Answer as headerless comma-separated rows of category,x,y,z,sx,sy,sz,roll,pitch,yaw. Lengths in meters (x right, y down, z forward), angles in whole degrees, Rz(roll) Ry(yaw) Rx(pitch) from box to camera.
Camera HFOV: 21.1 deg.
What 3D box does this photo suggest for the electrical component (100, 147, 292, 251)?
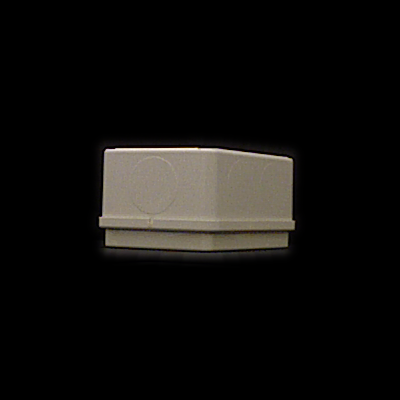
electrical component,0.000,0.000,0.649,0.078,0.057,0.113,2,1,30
